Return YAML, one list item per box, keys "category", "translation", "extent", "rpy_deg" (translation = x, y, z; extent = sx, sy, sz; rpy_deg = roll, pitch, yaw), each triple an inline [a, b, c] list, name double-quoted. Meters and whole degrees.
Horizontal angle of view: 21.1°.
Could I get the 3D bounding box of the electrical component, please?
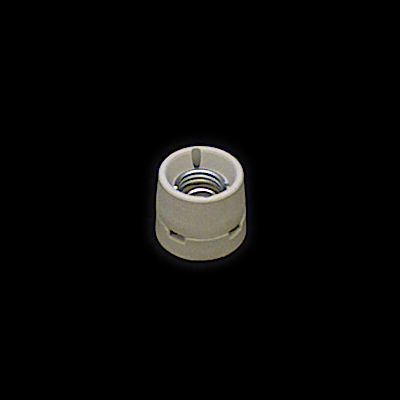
- category: "electrical component"
  translation: [0.000, 0.000, 0.635]
  extent: [0.055, 0.047, 0.055]
  rpy_deg: [0, 43, 0]
